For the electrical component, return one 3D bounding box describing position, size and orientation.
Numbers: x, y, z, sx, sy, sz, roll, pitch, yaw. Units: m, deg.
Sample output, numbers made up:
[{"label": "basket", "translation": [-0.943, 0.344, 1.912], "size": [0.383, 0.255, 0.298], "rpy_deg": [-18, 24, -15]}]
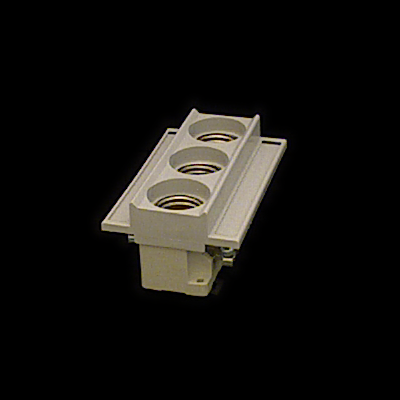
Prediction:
[{"label": "electrical component", "translation": [0.000, 0.000, 0.646], "size": [0.078, 0.064, 0.120], "rpy_deg": [8, 33, 15]}]
